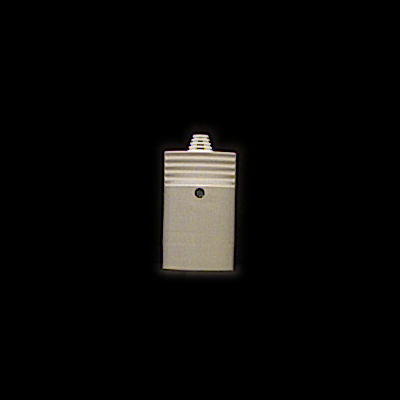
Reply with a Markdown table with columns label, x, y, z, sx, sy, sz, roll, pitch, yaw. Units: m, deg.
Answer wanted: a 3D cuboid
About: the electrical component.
| label | x | y | z | sx | sy | sz | roll | pitch | yaw |
| --- | --- | --- | --- | --- | --- | --- | --- | --- | --- |
| electrical component | 0.000 | 0.000 | 0.649 | 0.043 | 0.081 | 0.043 | 1 | 1 | 0 |
